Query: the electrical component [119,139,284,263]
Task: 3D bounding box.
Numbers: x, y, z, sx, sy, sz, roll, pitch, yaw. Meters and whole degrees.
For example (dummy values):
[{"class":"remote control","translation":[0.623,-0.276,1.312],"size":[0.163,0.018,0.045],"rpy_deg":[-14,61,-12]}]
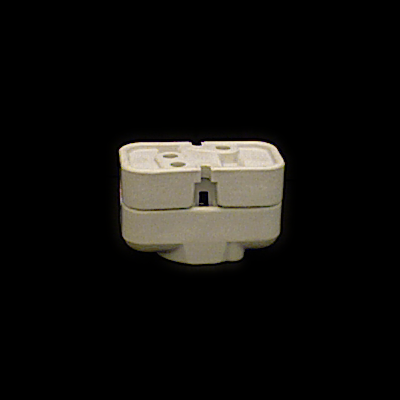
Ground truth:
[{"class":"electrical component","translation":[0.000,0.000,0.644],"size":[0.095,0.060,0.053],"rpy_deg":[-1,22,-7]}]
